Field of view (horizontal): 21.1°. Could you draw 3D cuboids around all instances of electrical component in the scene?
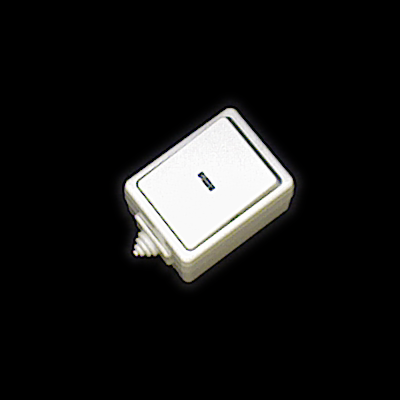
[{"bbox_3d":[0.000,0.000,0.625,0.096,0.062,0.060,-37,-13,-10],"label":"electrical component"}]
